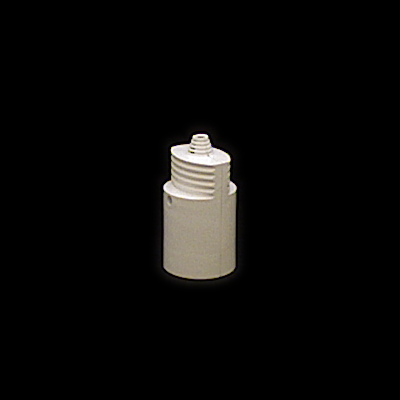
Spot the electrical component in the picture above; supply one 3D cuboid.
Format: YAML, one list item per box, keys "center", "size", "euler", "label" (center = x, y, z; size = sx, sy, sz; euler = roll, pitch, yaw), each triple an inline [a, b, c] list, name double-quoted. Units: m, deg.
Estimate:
- center: [0.000, 0.000, 0.636]
  size: [0.043, 0.082, 0.042]
  euler: [1, 21, 0]
  label: "electrical component"
